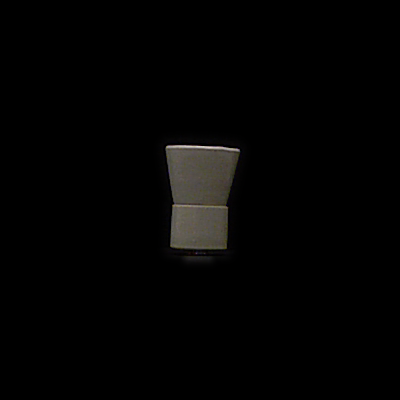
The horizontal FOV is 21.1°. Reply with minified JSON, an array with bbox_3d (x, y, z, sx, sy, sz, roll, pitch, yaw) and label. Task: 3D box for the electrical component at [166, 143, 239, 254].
[{"bbox_3d":[0.000,0.000,0.649,0.044,0.065,0.044,2,1,0],"label":"electrical component"}]
